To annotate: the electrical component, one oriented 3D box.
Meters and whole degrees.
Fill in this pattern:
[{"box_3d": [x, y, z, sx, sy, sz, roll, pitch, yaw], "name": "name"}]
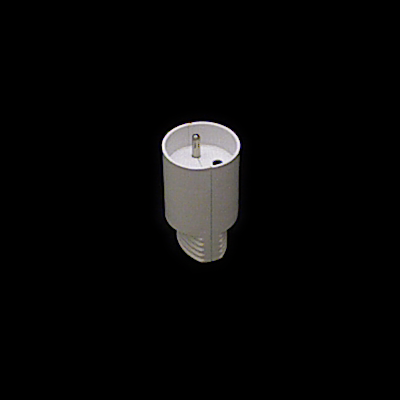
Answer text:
[{"box_3d": [0.000, 0.000, 0.623, 0.043, 0.082, 0.042, 1, 41, 0], "name": "electrical component"}]
